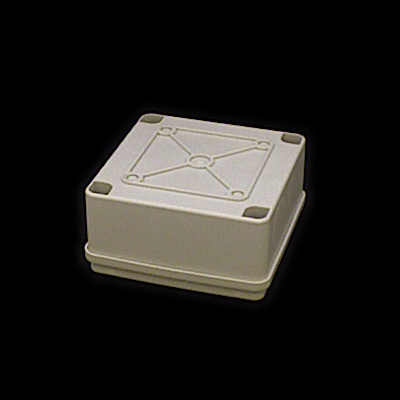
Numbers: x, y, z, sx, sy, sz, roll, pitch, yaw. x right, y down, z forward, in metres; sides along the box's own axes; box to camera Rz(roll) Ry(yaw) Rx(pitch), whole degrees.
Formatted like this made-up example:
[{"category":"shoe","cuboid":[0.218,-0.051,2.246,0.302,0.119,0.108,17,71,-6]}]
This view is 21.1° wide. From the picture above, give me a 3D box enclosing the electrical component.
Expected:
[{"category":"electrical component","cuboid":[0.000,0.000,0.633,0.108,0.057,0.108,9,33,14]}]
